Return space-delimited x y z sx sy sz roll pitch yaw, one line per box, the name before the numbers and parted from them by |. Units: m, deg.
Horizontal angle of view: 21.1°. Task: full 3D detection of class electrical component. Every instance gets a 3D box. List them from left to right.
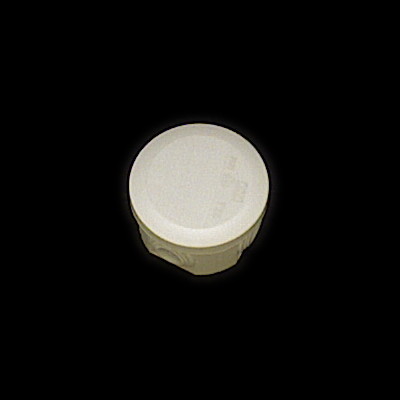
electrical component | 0.000 0.000 0.629 0.080 0.080 0.050 0 -27 0
